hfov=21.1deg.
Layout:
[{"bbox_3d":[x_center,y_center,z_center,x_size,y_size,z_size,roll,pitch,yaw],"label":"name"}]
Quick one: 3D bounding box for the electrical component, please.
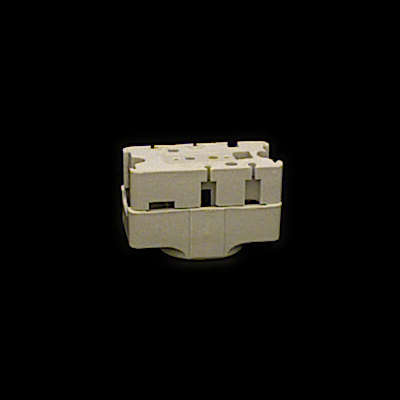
[{"bbox_3d":[0.000,0.000,0.647,0.090,0.056,0.049,-2,22,-10],"label":"electrical component"}]
